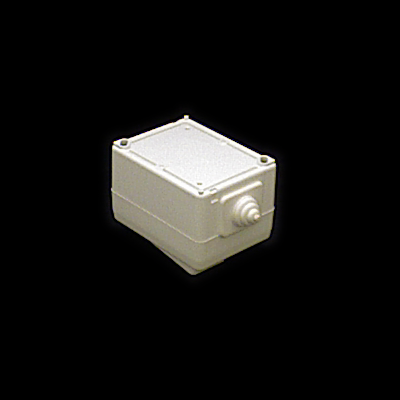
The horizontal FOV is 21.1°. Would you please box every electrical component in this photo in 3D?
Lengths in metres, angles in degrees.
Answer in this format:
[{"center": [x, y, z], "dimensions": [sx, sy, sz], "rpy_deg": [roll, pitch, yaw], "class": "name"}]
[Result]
[{"center": [0.000, 0.000, 0.631], "dimensions": [0.061, 0.061, 0.096], "rpy_deg": [-24, 39, -36], "class": "electrical component"}]
